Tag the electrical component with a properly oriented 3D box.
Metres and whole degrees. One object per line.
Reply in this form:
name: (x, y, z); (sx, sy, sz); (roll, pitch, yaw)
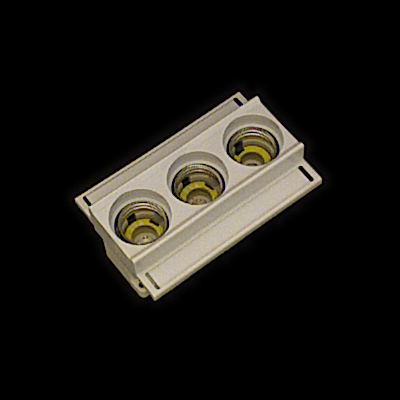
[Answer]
electrical component: (0.000, 0.000, 0.637); (0.122, 0.078, 0.063); (-34, -23, -16)
